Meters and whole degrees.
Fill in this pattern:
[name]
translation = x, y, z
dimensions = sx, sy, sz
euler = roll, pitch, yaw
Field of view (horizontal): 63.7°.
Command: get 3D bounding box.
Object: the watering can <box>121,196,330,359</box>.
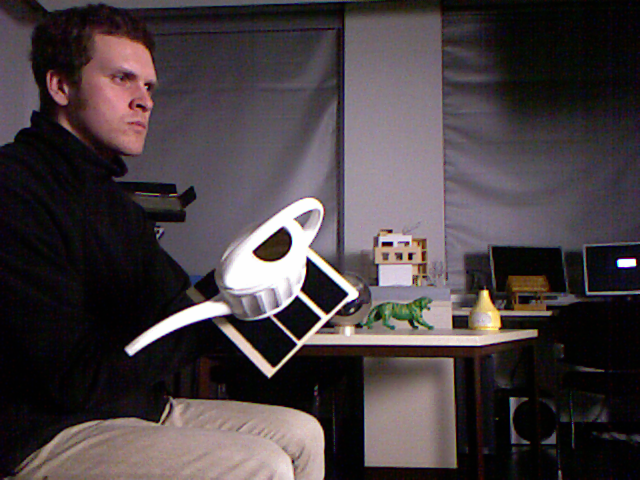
[watering can]
translation = -0.118, 0.066, 0.770
dimensions = 0.352, 0.105, 0.221
euler = -40, -21, -16
